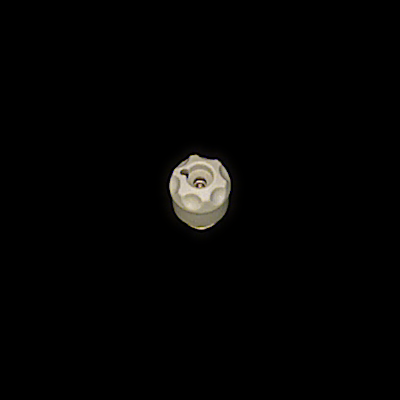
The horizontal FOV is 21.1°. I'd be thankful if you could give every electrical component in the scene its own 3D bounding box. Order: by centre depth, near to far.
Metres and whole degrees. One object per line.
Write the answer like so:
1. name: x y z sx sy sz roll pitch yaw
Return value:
1. electrical component: 0.000 0.000 0.634 0.035 0.035 0.061 0 -27 0
